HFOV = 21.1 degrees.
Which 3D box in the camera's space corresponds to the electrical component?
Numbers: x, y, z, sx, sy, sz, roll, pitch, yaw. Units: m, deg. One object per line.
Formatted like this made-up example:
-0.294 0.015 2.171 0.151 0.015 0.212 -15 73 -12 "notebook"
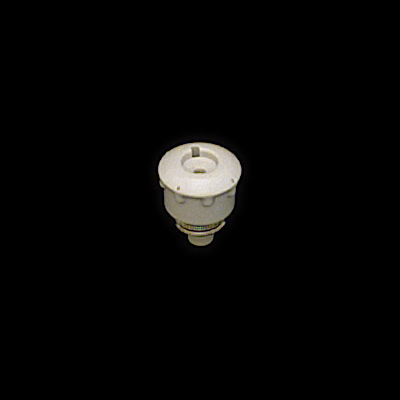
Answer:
0.000 0.000 0.637 0.048 0.062 0.047 1 43 0 "electrical component"
